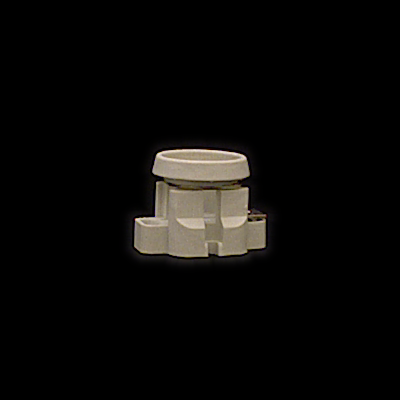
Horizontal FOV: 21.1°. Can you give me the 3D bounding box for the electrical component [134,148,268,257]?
[{"bbox_3d":[0.000,0.000,0.645,0.078,0.057,0.057,-2,11,-18],"label":"electrical component"}]
